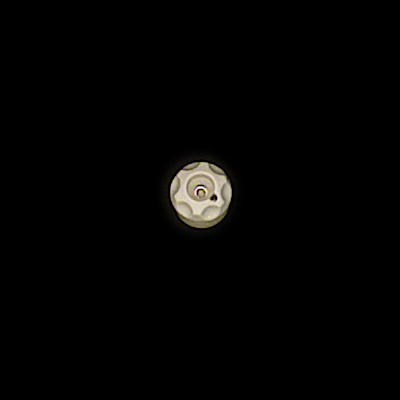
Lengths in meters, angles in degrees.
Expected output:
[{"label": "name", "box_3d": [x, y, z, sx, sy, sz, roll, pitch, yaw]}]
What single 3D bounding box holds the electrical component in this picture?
[{"label": "electrical component", "box_3d": [0.000, 0.000, 0.633, 0.035, 0.035, 0.061, 0, -15, 1]}]
